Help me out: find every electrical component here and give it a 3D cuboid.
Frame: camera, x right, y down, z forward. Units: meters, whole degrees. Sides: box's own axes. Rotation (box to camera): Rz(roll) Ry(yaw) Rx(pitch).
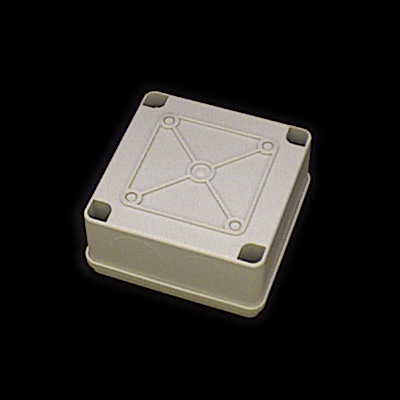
[{"bbox_3d":[0.000,0.000,0.630,0.108,0.108,0.056,16,-36,11],"label":"electrical component"}]
